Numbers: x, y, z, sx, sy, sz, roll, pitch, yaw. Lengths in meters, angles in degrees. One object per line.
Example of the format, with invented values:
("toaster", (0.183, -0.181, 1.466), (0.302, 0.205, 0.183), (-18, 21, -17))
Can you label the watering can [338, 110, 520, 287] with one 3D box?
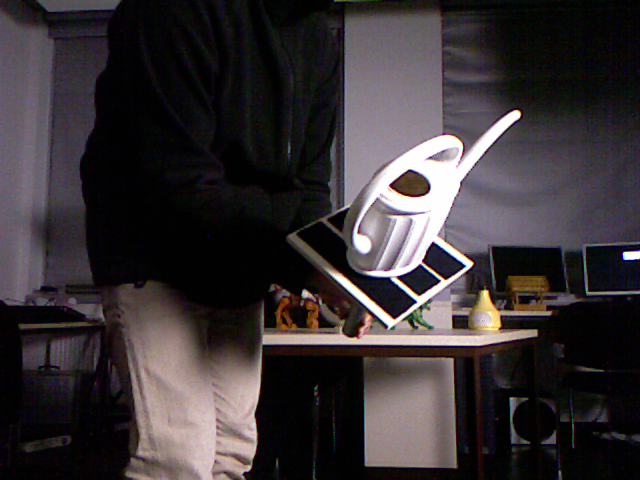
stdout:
("watering can", (0.151, -0.060, 0.726), (0.352, 0.219, 0.105), (-27, 59, -34))
